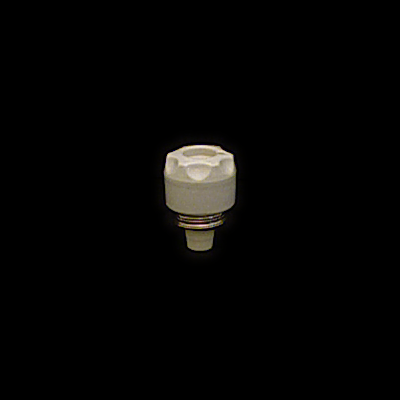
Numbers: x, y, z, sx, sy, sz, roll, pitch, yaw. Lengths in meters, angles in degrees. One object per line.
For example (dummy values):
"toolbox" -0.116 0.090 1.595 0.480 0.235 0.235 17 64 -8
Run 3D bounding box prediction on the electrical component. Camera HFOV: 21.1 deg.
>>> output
"electrical component" 0.000 0.000 0.645 0.043 0.063 0.043 0 22 0
